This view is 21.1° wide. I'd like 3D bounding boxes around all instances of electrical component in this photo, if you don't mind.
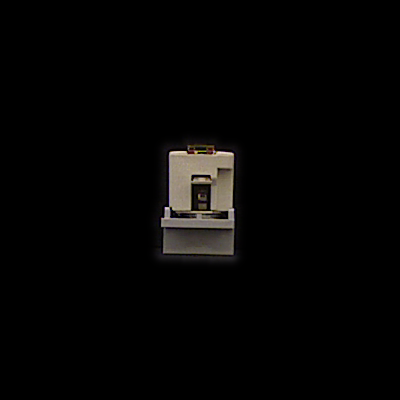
[{"bbox_3d":[0.000,0.000,0.650,0.042,0.064,0.081,1,1,1],"label":"electrical component"}]
